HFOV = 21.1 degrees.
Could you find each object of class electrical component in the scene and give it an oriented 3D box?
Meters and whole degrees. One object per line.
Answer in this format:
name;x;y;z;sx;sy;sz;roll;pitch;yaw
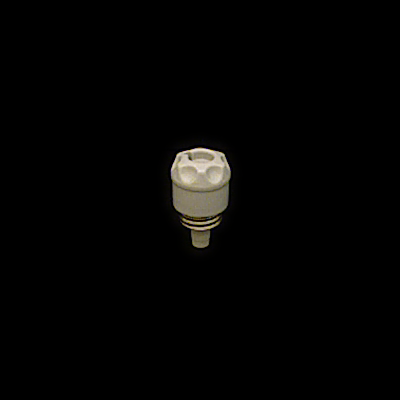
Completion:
electrical component;0.000;0.000;0.643;0.035;0.062;0.034;1;32;0
